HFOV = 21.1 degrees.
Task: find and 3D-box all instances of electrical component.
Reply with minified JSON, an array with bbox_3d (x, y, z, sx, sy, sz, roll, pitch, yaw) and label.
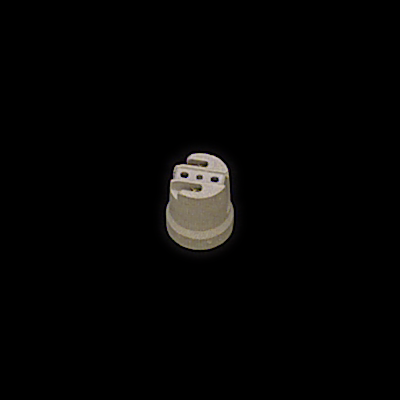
[{"bbox_3d":[0.000,0.000,0.634,0.040,0.040,0.046,0,-38,-1],"label":"electrical component"}]
